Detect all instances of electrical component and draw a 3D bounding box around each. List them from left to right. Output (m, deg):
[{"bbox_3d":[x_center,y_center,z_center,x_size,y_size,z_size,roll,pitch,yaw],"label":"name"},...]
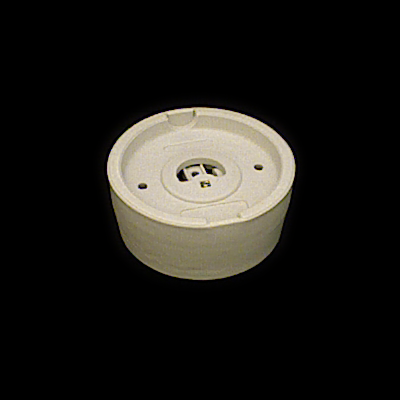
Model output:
[{"bbox_3d":[0.000,0.000,0.636,0.108,0.061,0.107,1,42,0],"label":"electrical component"}]
